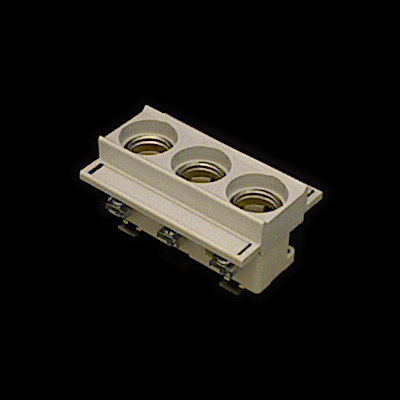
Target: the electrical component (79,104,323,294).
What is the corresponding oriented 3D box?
[{"bbox_3d":[0.000,0.000,0.644,0.120,0.064,0.078,28,48,27],"label":"electrical component"}]
